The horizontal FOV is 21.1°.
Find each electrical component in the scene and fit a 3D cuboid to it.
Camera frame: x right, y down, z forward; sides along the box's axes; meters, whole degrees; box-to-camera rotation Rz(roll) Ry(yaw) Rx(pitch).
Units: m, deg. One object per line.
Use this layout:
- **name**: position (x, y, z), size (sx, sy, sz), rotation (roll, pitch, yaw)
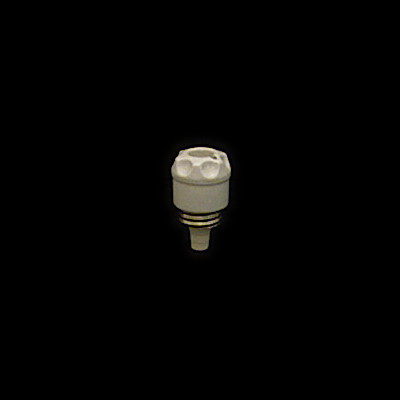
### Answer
- **electrical component**: position (0.000, 0.000, 0.643), size (0.035, 0.062, 0.035), rotation (1, 22, 0)
